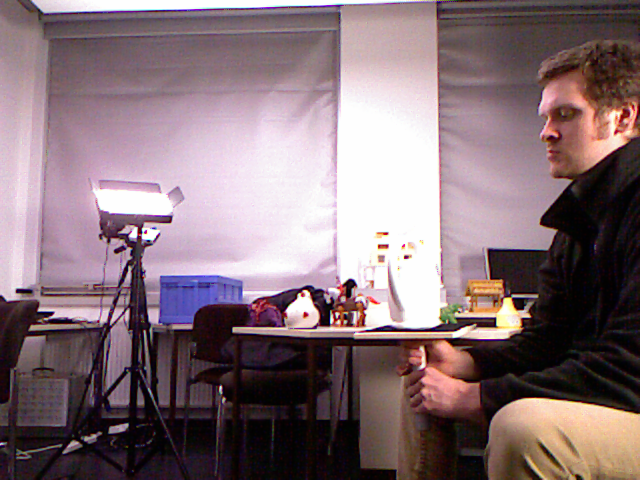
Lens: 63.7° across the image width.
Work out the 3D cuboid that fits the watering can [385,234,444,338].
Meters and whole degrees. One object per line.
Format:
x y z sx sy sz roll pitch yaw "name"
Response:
0.221 0.101 1.133 0.104 0.225 0.347 -3 -4 30 "watering can"
